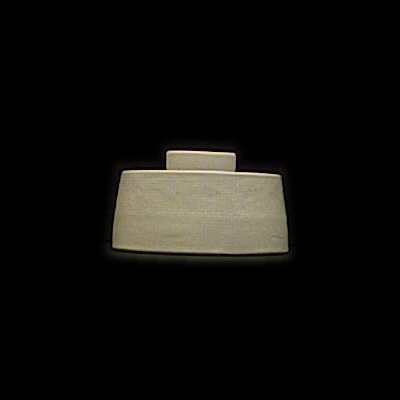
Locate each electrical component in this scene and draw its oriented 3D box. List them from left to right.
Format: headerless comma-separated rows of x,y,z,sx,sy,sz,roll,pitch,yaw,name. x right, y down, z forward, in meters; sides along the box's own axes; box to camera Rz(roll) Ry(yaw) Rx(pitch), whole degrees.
0.000,0.000,0.657,0.108,0.060,0.108,1,1,1,electrical component
